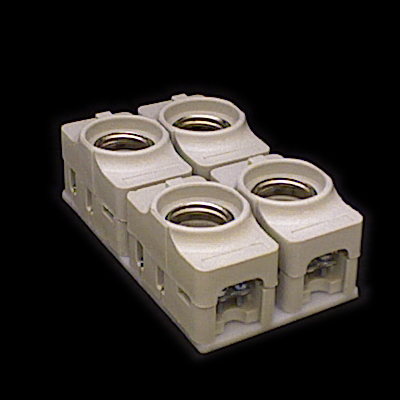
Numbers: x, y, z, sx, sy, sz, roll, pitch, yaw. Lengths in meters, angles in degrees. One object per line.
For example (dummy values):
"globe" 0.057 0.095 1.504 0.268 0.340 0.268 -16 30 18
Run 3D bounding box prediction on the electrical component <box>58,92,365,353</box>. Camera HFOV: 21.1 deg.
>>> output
"electrical component" 0.000 0.000 0.633 0.105 0.061 0.184 -16 35 -25
